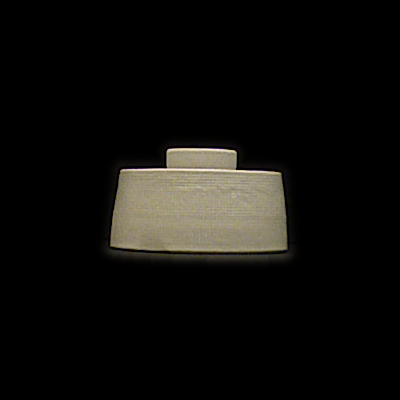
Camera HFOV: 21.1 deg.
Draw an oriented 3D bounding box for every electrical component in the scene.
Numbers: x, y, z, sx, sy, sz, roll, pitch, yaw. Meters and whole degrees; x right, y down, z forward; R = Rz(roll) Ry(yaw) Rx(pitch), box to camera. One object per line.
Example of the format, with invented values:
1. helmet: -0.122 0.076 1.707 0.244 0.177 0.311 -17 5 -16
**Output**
1. electrical component: 0.000 0.000 0.654 0.108 0.060 0.108 1 1 1
